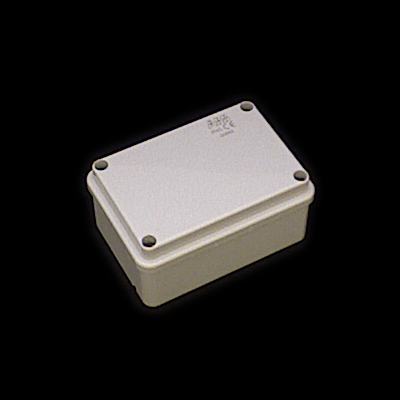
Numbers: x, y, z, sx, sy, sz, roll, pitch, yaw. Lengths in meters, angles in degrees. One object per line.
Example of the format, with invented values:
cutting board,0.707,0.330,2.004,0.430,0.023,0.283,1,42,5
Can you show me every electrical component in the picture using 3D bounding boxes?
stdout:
electrical component,0.000,0.000,0.630,0.113,0.077,0.057,-23,-34,-17
